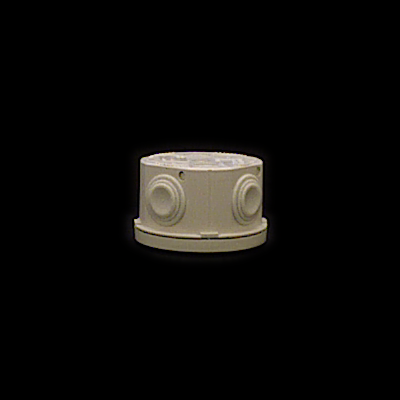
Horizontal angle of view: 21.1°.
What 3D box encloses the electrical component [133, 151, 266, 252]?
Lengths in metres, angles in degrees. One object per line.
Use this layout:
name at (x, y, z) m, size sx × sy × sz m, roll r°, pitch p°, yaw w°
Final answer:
electrical component at (0.000, 0.000, 0.645) m, size 0.080 × 0.051 × 0.079 m, roll 1°, pitch 11°, yaw 0°
